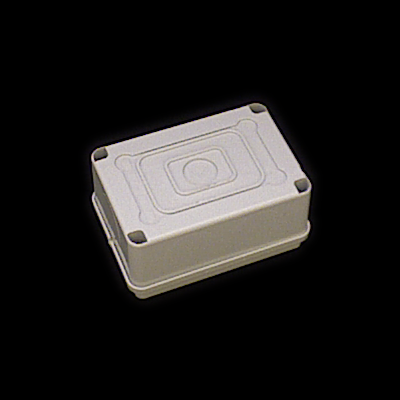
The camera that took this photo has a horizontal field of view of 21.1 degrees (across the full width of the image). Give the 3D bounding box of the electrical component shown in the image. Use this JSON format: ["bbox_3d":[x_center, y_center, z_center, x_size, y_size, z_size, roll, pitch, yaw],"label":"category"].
[{"bbox_3d":[0.000,0.000,0.629,0.113,0.078,0.057,-18,-35,-13],"label":"electrical component"}]
